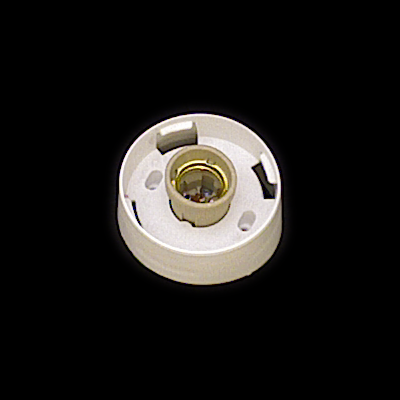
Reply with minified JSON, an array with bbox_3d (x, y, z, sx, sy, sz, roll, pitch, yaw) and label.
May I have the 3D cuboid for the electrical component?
[{"bbox_3d":[0.000,0.000,0.625,0.099,0.099,0.064,0,-28,0],"label":"electrical component"}]
